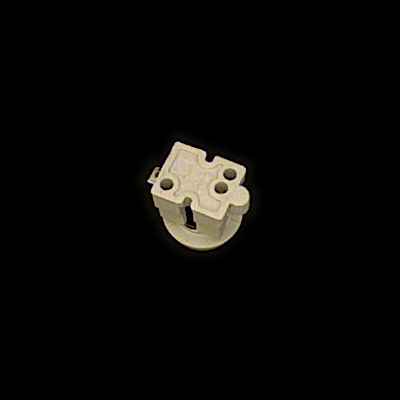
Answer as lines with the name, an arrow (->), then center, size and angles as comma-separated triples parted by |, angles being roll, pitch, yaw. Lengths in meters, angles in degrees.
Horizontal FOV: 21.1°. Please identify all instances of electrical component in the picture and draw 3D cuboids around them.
electrical component -> 0.000, 0.000, 0.638 | 0.066, 0.048, 0.055 | 22, -23, 12
